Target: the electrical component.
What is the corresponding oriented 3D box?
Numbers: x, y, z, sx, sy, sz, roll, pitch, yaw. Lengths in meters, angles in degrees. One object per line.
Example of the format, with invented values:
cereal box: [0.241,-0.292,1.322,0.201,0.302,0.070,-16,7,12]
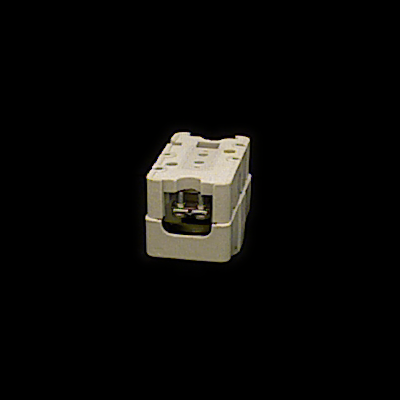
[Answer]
electrical component: [0.000,0.000,0.646,0.050,0.056,0.089,4,21,9]
